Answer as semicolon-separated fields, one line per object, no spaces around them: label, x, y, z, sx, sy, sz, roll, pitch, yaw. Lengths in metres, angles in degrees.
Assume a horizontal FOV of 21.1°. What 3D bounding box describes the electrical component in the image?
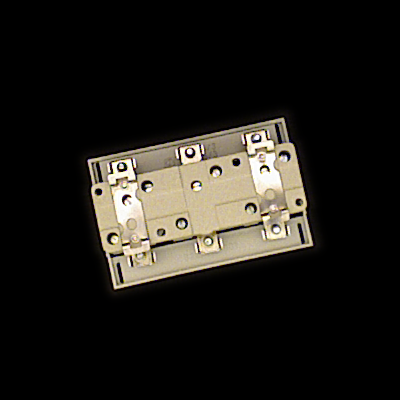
electrical component;0.000;0.000;0.634;0.121;0.079;0.063;-13;-5;-1
